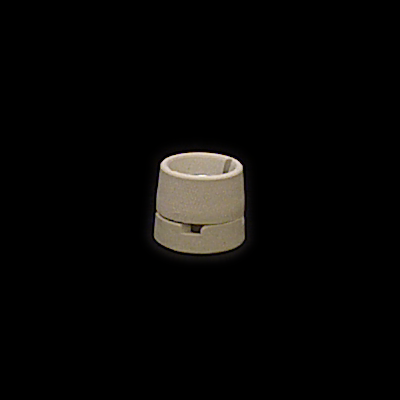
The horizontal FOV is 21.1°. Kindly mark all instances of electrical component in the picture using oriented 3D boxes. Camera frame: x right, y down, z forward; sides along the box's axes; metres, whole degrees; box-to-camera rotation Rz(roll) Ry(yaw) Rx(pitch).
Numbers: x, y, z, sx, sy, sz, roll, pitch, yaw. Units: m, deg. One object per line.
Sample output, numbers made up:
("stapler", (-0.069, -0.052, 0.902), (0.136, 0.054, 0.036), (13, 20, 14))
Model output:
("electrical component", (0.000, 0.000, 0.642), (0.055, 0.047, 0.055), (2, 21, -1))
